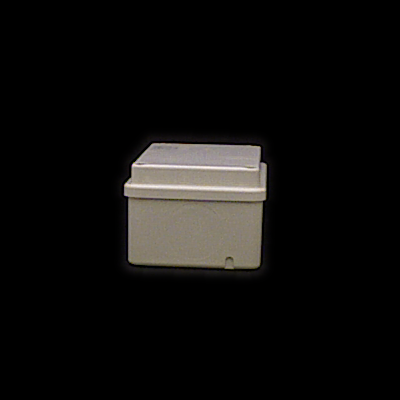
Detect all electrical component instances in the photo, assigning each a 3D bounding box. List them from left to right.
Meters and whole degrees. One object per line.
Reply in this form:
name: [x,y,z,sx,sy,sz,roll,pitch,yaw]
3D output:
electrical component: [0.000,0.000,0.644,0.078,0.057,0.112,2,10,3]
